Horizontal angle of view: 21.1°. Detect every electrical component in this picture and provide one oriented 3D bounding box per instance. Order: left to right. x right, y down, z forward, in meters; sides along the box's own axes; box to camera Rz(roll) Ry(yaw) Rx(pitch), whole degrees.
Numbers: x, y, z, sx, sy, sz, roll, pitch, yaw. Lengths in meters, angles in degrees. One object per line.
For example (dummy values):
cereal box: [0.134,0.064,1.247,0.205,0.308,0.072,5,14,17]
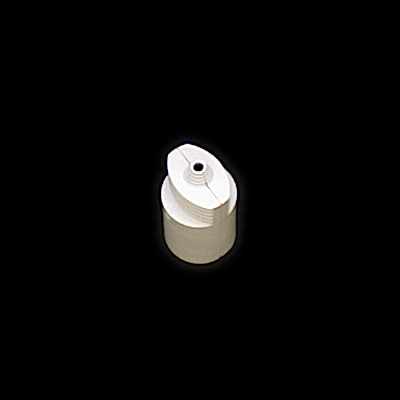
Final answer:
electrical component: [0.000,0.000,0.617,0.043,0.043,0.081,0,-27,0]
